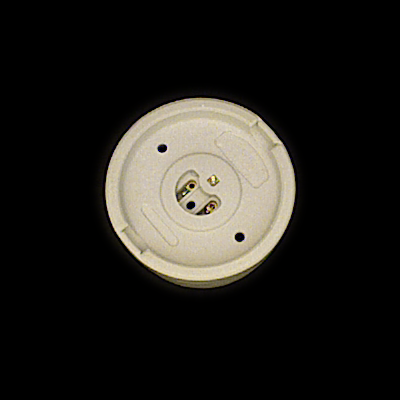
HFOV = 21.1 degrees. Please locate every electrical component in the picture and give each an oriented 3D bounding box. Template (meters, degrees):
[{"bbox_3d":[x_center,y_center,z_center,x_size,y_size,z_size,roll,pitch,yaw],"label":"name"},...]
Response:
[{"bbox_3d":[0.000,0.000,0.635,0.108,0.108,0.060,0,-16,1],"label":"electrical component"}]
